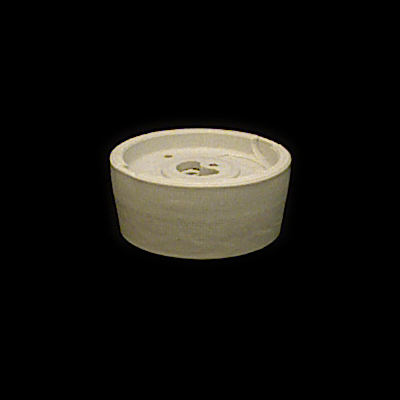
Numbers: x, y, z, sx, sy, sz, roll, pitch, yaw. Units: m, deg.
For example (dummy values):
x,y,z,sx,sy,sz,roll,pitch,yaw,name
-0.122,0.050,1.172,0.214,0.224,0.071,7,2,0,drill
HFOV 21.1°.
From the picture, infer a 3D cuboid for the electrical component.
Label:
x,y,z,sx,sy,sz,roll,pitch,yaw,name
0.000,0.000,0.650,0.108,0.061,0.106,1,21,0,electrical component
